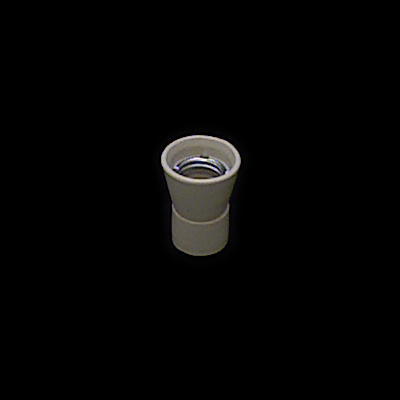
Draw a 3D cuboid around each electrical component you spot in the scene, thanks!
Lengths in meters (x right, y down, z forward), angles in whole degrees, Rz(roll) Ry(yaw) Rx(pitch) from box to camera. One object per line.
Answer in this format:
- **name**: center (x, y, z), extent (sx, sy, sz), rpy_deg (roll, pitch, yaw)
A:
- **electrical component**: center (0.000, 0.000, 0.631), extent (0.044, 0.066, 0.044), rpy_deg (0, 41, 0)
